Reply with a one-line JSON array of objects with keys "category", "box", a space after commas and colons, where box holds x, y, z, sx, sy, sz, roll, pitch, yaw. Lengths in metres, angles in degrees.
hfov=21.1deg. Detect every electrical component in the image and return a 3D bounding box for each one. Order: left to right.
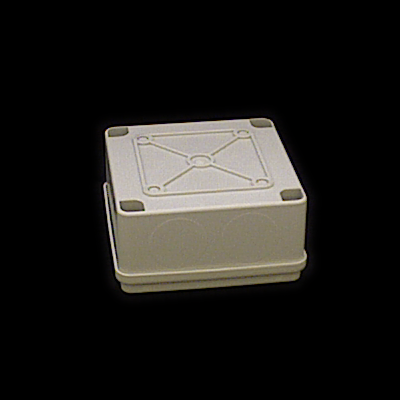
[{"category": "electrical component", "box": [0.000, 0.000, 0.635, 0.109, 0.057, 0.107, -4, 31, -8]}]
